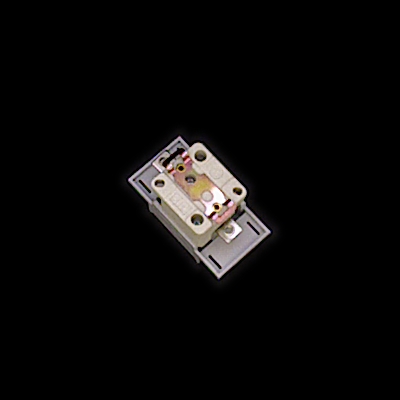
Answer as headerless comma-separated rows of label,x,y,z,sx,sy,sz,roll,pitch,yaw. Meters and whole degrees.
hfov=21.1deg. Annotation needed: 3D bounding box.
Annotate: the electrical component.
electrical component,0.000,0.000,0.625,0.042,0.081,0.063,-41,-13,-11
